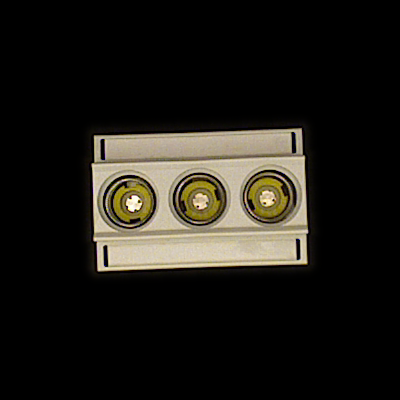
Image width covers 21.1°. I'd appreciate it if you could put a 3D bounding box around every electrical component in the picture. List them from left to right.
[{"bbox_3d":[0.000,0.000,0.637,0.121,0.079,0.063,-2,-4,0],"label":"electrical component"}]
